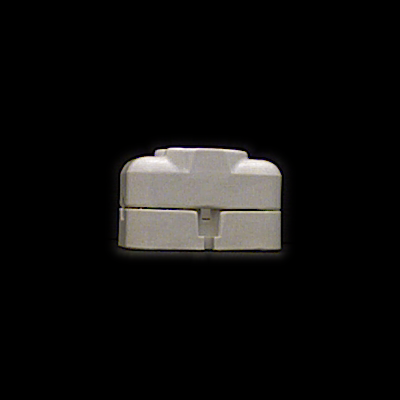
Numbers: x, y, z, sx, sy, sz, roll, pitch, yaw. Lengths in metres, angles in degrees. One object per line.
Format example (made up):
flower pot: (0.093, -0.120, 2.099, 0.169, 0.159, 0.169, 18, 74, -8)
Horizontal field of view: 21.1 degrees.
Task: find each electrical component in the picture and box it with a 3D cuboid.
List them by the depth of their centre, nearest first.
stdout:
electrical component: (0.000, 0.000, 0.655, 0.095, 0.059, 0.053, 1, 1, -14)
